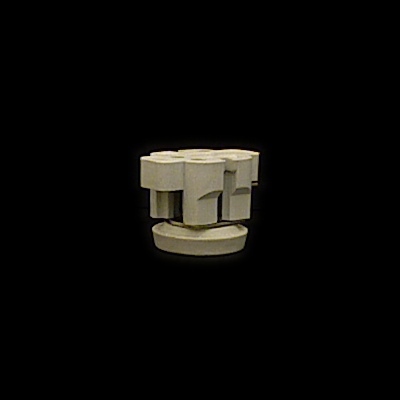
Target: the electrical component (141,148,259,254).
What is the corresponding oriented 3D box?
[{"bbox_3d":[0.000,0.000,0.653,0.079,0.057,0.057,-7,13,-42],"label":"electrical component"}]
